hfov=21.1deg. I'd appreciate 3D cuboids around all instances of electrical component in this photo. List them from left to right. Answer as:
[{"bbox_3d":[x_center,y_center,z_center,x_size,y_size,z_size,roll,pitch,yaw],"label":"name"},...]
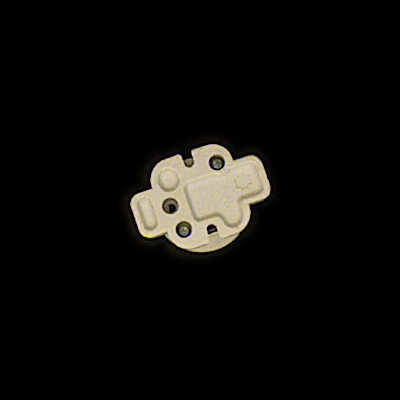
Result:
[{"bbox_3d":[0.000,0.000,0.637,0.079,0.058,0.056,-20,-6,-3],"label":"electrical component"}]
